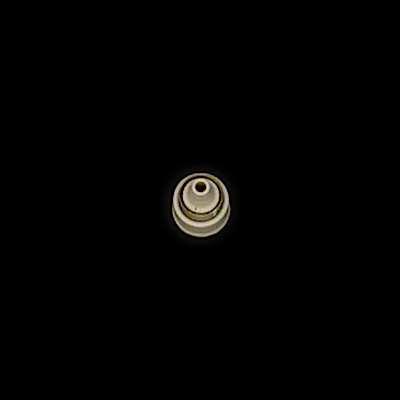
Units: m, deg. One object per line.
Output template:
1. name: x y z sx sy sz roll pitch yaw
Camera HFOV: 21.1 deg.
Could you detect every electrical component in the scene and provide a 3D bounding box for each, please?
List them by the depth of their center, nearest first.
1. electrical component: 0.000 0.000 0.638 0.035 0.035 0.061 0 -15 1
